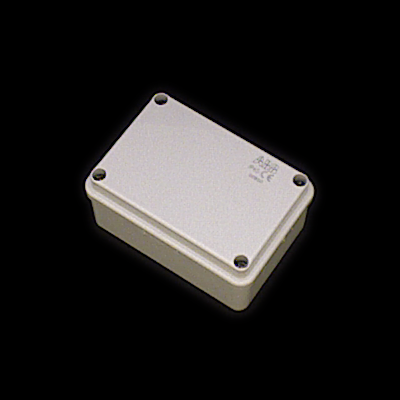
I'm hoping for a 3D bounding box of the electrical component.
[{"bbox_3d":[0.000,0.000,0.628,0.113,0.078,0.057,31,-23,14],"label":"electrical component"}]
